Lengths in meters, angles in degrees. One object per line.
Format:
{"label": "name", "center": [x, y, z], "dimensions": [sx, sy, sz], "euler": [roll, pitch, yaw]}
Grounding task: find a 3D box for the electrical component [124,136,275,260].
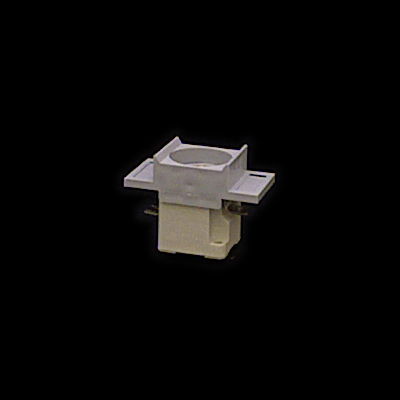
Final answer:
{"label": "electrical component", "center": [0.000, 0.000, 0.638], "dimensions": [0.080, 0.064, 0.042], "euler": [8, 23, 15]}
